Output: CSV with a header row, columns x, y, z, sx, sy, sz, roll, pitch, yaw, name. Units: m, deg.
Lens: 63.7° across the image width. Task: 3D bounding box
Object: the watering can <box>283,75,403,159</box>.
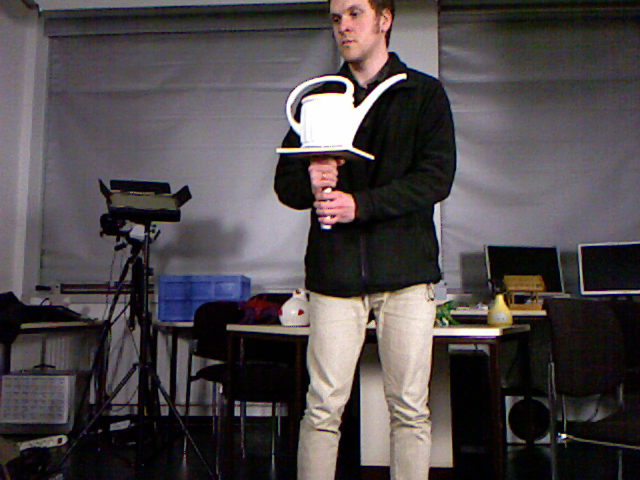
x,y,z,sx,sy,sz,roll,pitch,yaw,name
0.052,-0.330,1.379,0.347,0.223,0.104,2,7,27,watering can
